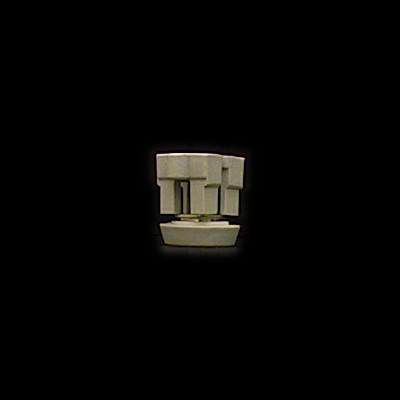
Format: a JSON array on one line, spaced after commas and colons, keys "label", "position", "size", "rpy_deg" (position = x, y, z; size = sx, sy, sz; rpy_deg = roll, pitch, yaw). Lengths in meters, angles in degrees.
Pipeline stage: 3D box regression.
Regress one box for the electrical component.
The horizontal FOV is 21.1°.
[{"label": "electrical component", "position": [0.000, 0.000, 0.655], "size": [0.048, 0.055, 0.067], "rpy_deg": [1, 0, 34]}]
